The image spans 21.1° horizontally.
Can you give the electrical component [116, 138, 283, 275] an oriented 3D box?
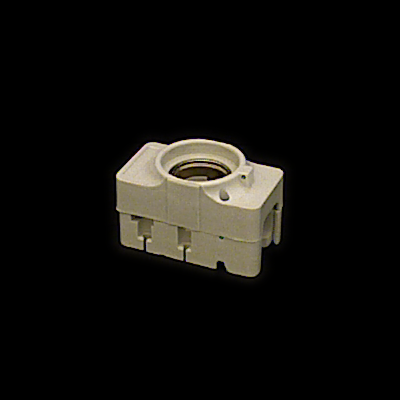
[{"bbox_3d":[0.000,0.000,0.642,0.089,0.056,0.050,12,34,18],"label":"electrical component"}]
